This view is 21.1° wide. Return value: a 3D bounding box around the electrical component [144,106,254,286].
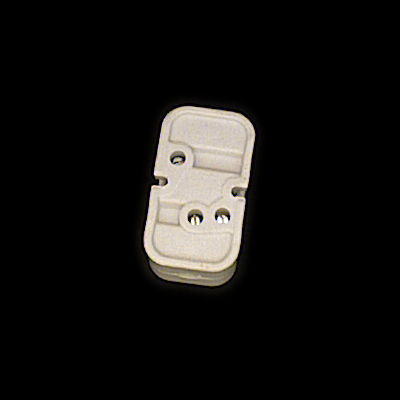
[{"bbox_3d":[0.000,0.000,0.636,0.054,0.095,0.059,8,-16,2],"label":"electrical component"}]
